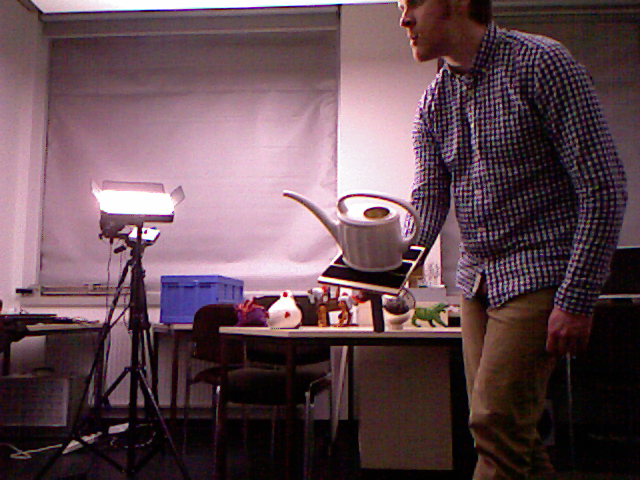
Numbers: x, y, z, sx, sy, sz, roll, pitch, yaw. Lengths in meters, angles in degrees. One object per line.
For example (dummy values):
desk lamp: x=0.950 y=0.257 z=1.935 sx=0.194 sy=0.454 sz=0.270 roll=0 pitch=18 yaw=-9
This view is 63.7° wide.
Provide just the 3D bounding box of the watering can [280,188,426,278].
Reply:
watering can: x=0.078 y=-0.025 z=1.221 sx=0.349 sy=0.220 sz=0.106 roll=7 pitch=34 yaw=22
